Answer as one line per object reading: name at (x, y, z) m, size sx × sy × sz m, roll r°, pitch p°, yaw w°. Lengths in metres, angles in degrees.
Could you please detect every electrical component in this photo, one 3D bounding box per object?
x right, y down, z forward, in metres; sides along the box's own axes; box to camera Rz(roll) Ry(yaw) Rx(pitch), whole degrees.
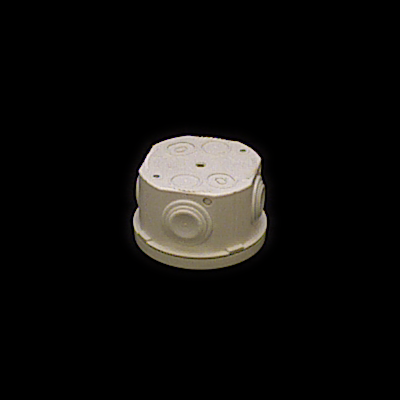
electrical component at (0.000, 0.000, 0.636) m, size 0.080 × 0.051 × 0.079 m, roll 0°, pitch 32°, yaw 0°
